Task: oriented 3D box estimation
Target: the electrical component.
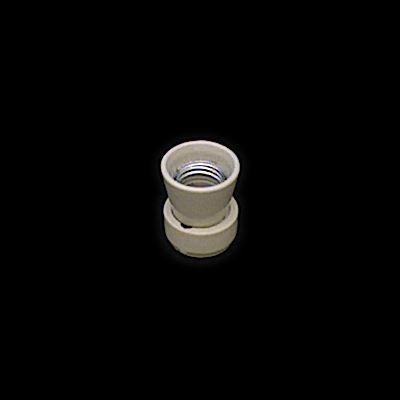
[{"bbox_3d":[0.000,0.000,0.631,0.045,0.055,0.044,0,41,0],"label":"electrical component"}]
